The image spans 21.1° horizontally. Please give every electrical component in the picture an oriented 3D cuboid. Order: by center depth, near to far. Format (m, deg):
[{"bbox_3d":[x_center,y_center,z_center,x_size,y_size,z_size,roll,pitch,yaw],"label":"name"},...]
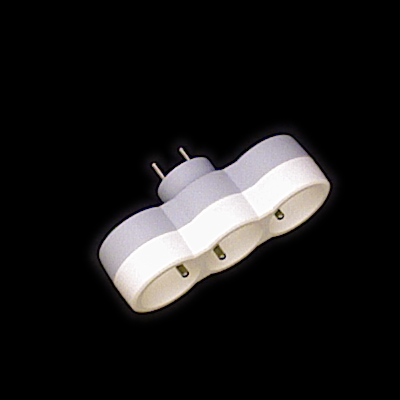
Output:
[{"bbox_3d":[0.000,0.000,0.629,0.139,0.074,0.052,-30,-25,-14],"label":"electrical component"}]
